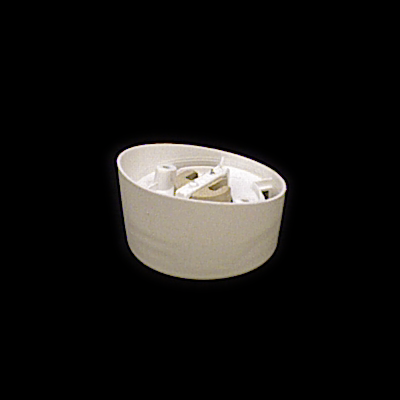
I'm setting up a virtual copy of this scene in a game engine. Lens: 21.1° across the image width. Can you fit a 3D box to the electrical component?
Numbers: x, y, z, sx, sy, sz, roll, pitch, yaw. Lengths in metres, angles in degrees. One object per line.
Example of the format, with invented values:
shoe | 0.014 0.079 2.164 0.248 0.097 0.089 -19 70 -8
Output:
electrical component | 0.000 0.000 0.632 0.099 0.065 0.097 1 32 0
